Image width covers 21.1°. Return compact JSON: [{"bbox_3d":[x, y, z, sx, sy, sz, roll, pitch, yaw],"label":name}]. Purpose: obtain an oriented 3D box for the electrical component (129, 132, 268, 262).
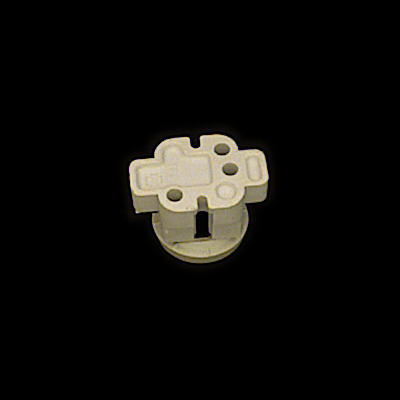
[{"bbox_3d":[0.000,0.000,0.636,0.079,0.057,0.057,-6,-36,-4],"label":"electrical component"}]
